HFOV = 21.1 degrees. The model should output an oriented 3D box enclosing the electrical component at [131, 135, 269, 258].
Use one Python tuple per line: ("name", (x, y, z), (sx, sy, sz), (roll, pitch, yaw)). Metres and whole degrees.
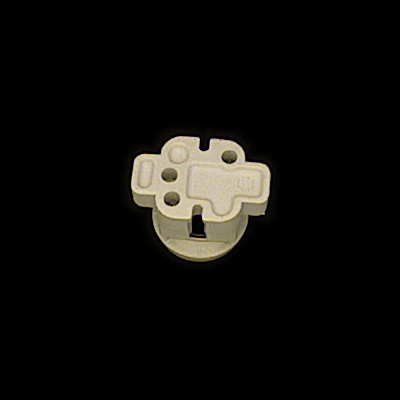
("electrical component", (0.000, 0.000, 0.636), (0.078, 0.058, 0.057), (4, -27, 1))
